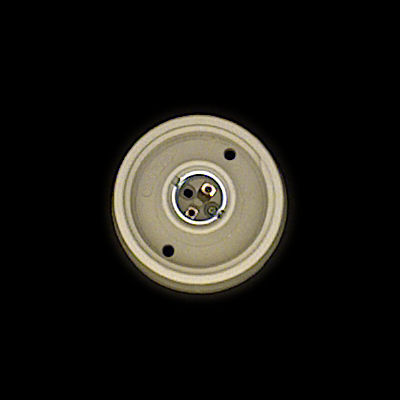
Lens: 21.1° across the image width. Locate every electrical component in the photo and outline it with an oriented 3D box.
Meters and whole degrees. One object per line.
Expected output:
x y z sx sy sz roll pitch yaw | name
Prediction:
0.000 0.000 0.635 0.108 0.108 0.060 0 -6 0 | electrical component
